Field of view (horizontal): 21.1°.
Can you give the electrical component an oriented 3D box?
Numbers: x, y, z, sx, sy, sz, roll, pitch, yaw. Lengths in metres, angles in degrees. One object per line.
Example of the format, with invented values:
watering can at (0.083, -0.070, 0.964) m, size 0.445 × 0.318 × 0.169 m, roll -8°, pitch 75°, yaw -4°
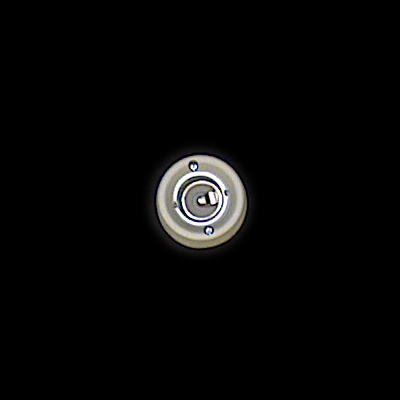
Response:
electrical component at (0.000, 0.000, 0.633) m, size 0.055 × 0.055 × 0.047 m, roll 0°, pitch -6°, yaw 1°
